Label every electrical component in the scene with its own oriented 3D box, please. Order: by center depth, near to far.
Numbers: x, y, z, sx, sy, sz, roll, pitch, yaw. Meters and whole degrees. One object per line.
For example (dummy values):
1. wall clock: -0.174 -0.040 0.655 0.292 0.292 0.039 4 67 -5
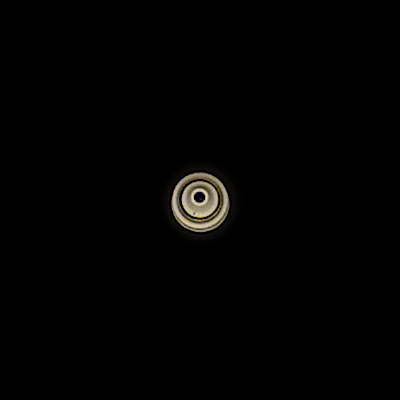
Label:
1. electrical component: 0.000 0.000 0.638 0.035 0.035 0.061 0 -4 0
